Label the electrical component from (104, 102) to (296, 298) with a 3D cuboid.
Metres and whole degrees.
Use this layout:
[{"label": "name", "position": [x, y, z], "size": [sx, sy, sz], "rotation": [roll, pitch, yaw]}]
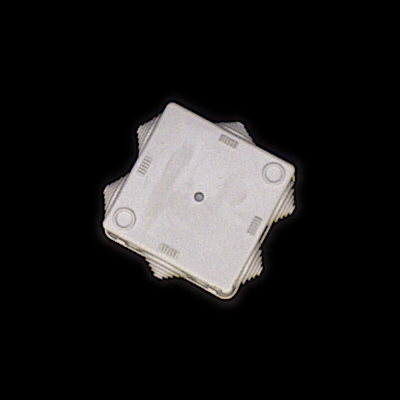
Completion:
[{"label": "electrical component", "position": [0.000, 0.000, 0.632], "size": [0.100, 0.100, 0.048], "rotation": [28, -6, 3]}]
